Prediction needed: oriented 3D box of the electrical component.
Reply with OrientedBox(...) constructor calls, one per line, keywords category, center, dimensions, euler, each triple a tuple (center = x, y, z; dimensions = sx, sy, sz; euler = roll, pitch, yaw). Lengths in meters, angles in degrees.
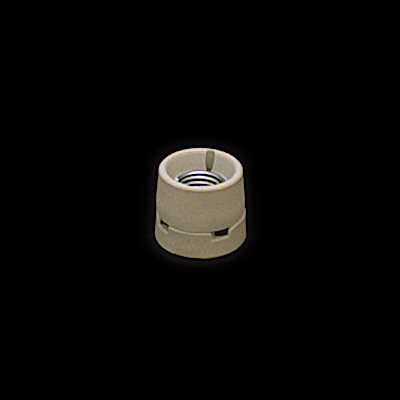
OrientedBox(category="electrical component", center=(0.000, 0.000, 0.636), dimensions=(0.055, 0.047, 0.055), euler=(0, 32, 0))
